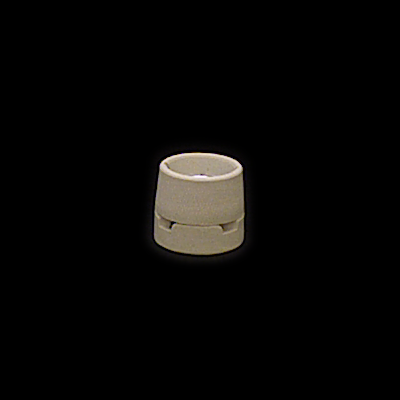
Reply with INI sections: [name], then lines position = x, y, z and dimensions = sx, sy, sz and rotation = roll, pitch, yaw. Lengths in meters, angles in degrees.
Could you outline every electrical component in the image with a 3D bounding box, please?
[electrical component]
position = 0.000, 0.000, 0.641
dimensions = 0.055, 0.047, 0.055
rotation = 2, 22, -1
